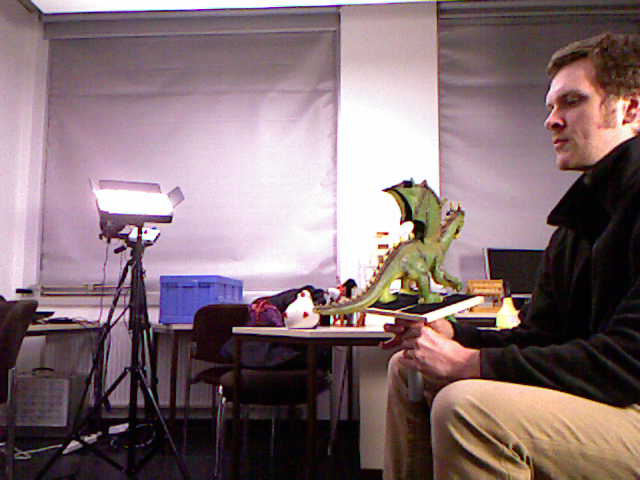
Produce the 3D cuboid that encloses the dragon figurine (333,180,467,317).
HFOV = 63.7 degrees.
[{"bbox_3d":[0.179,0.003,1.025,0.413,0.242,0.122,-8,8,-44],"label":"dragon figurine"}]
